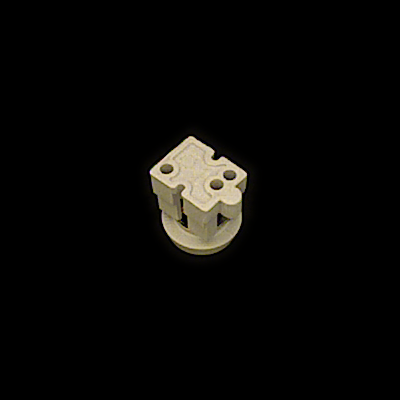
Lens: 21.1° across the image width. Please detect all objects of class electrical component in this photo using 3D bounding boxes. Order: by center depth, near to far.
[{"bbox_3d":[0.000,0.000,0.638,0.066,0.048,0.056,35,-28,24],"label":"electrical component"}]
